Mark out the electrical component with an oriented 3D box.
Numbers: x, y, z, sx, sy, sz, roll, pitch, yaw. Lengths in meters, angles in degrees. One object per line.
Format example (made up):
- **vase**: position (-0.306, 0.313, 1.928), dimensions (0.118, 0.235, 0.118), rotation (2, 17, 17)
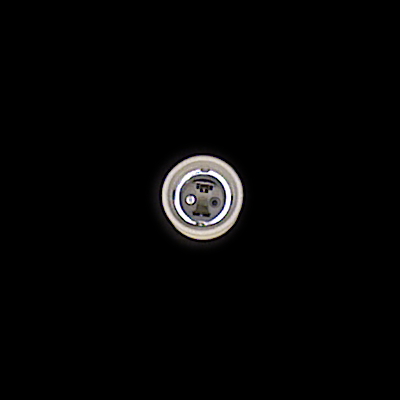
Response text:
- **electrical component**: position (0.000, 0.000, 0.629), dimensions (0.045, 0.045, 0.055), rotation (0, -7, 0)
